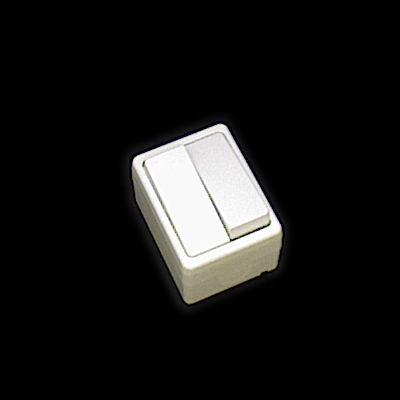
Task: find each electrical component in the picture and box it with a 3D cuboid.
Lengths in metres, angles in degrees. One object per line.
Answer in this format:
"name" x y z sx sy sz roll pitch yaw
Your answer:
"electrical component" 0.000 0.000 0.628 0.062 0.096 0.061 -22 -25 -11
